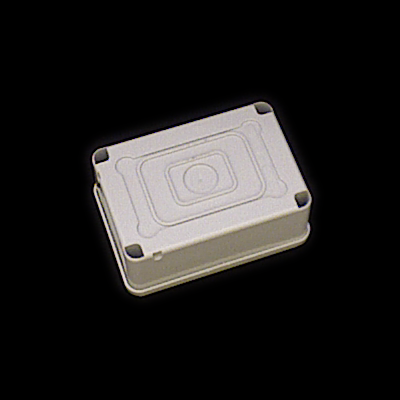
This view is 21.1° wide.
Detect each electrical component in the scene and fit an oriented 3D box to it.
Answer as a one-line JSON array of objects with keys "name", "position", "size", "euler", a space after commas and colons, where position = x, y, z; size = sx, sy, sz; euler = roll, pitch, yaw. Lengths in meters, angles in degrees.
[{"name": "electrical component", "position": [0.000, 0.000, 0.628], "size": [0.113, 0.078, 0.057], "euler": [-17, -26, -9]}]
